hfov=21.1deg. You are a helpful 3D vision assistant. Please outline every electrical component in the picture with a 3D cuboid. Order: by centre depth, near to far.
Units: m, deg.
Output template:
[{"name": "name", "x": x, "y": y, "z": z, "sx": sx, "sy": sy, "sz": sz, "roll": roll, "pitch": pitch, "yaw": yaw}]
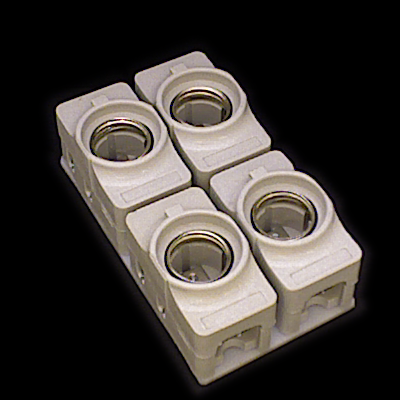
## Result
[{"name": "electrical component", "x": 0.000, "y": 0.000, "z": 0.627, "sx": 0.106, "sy": 0.185, "sz": 0.060, "roll": -24, "pitch": -34, "yaw": -18}]
